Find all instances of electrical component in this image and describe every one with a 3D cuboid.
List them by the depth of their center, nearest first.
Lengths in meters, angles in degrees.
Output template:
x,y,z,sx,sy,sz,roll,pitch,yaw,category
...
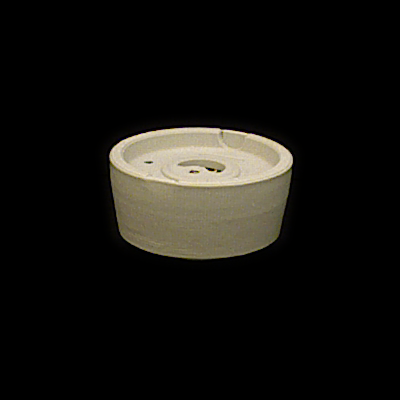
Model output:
x,y,z,sx,sy,sz,roll,pitch,yaw,category
0.000,0.000,0.642,0.108,0.061,0.106,1,21,0,electrical component
